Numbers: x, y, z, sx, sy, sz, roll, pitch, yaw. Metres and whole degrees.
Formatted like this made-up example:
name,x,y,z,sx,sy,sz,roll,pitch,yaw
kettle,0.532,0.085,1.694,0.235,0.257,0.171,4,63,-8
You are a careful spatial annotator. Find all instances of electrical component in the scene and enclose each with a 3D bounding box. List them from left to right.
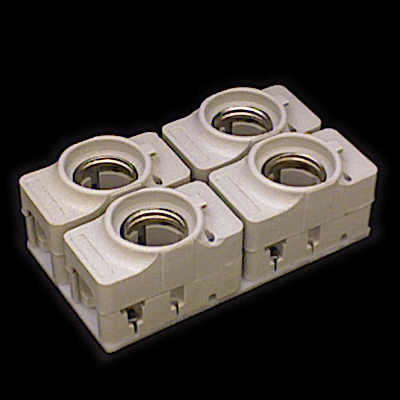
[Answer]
name,x,y,z,sx,sy,sz,roll,pitch,yaw
electrical component,0.000,0.000,0.631,0.186,0.061,0.104,-22,47,-24
